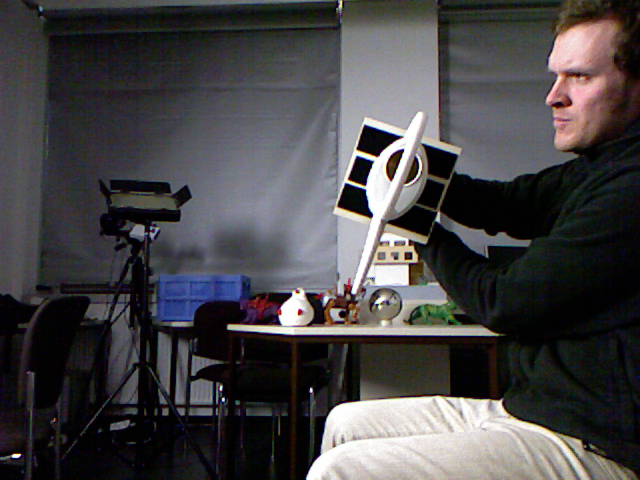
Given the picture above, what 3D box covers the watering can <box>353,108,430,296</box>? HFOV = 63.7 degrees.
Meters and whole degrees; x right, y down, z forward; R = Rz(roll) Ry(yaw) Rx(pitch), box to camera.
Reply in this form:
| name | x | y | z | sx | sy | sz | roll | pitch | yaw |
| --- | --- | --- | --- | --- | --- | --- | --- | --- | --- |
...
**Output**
| name | x | y | z | sx | sy | sz | roll | pitch | yaw |
| --- | --- | --- | --- | --- | --- | --- | --- | --- | --- |
| watering can | 0.125 | -0.079 | 0.971 | 0.104 | 0.347 | 0.227 | 21 | 7 | 0 |
